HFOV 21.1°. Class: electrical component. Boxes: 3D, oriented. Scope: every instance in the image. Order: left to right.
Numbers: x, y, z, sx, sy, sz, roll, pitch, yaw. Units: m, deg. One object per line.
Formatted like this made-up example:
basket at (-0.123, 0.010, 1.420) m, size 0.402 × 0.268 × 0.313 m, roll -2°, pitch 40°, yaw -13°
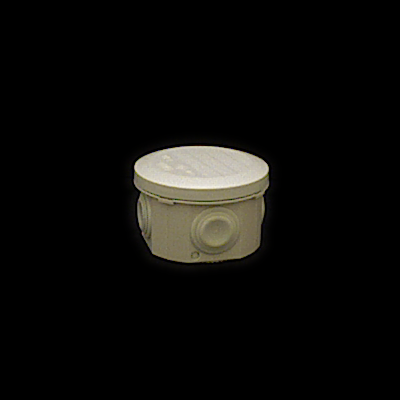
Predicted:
electrical component at (0.000, 0.000, 0.642) m, size 0.080 × 0.051 × 0.079 m, roll 1°, pitch 21°, yaw 0°
